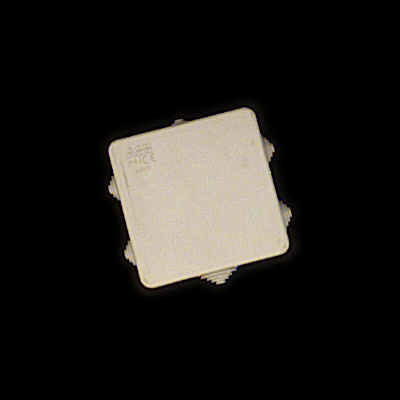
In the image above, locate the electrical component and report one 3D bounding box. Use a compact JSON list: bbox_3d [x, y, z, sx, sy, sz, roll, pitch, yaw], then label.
[{"bbox_3d":[0.000,0.000,0.642,0.100,0.100,0.048,-14,-6,-2],"label":"electrical component"}]
